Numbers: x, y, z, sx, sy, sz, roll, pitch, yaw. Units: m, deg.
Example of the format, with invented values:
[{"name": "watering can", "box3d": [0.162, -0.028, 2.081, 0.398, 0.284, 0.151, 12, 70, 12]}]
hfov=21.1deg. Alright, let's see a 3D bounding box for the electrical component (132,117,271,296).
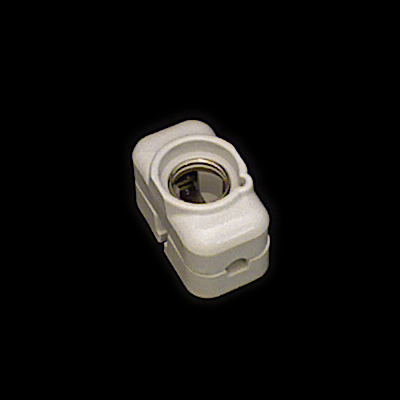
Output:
[{"name": "electrical component", "box3d": [0.000, 0.000, 0.636, 0.054, 0.094, 0.059, -23, -33, -16]}]
